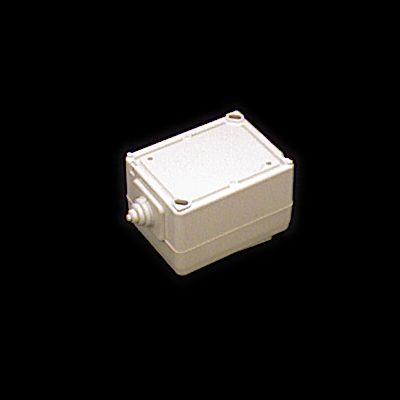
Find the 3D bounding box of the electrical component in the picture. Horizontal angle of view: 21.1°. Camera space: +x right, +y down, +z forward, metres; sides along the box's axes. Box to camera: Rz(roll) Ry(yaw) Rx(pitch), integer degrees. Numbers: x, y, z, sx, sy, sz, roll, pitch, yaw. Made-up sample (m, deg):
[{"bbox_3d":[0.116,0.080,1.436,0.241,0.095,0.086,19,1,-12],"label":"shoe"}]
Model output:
[{"bbox_3d":[0.000,0.000,0.632,0.096,0.061,0.061,-23,47,-23],"label":"electrical component"}]
